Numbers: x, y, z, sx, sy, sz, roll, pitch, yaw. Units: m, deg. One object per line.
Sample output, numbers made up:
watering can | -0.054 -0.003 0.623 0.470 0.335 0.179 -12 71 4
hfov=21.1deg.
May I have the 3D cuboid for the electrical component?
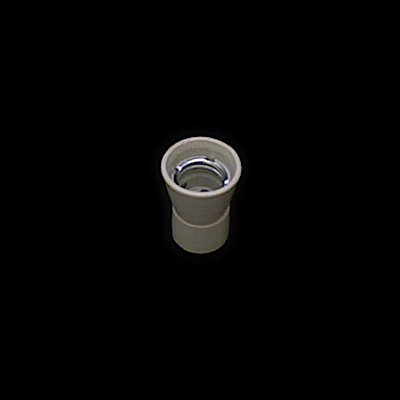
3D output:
electrical component | 0.000 0.000 0.628 0.044 0.044 0.065 0 -39 0
